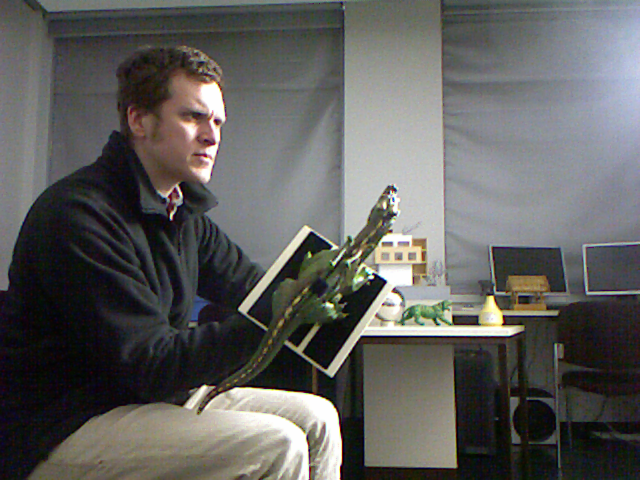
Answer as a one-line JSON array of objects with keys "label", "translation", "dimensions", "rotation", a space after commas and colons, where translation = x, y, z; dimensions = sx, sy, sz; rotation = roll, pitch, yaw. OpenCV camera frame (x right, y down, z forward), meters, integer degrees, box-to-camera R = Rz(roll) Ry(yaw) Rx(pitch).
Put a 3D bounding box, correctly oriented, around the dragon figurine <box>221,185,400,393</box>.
[{"label": "dragon figurine", "translation": [-0.011, 0.078, 0.791], "dimensions": [0.123, 0.417, 0.240], "rotation": [39, -16, 8]}]
